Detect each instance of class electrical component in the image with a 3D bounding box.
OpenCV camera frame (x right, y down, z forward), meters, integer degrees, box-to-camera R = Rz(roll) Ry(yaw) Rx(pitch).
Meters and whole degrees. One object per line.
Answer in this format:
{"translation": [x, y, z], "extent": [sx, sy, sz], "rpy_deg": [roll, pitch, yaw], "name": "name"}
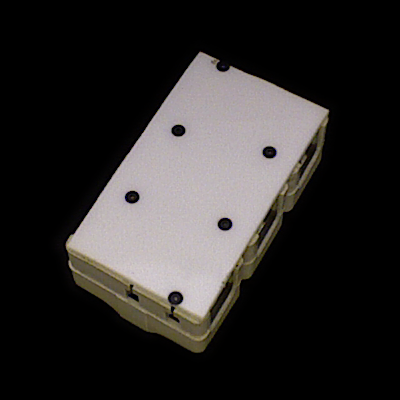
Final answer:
{"translation": [0.000, 0.000, 0.629], "extent": [0.089, 0.150, 0.062], "rpy_deg": [27, -24, 14], "name": "electrical component"}
